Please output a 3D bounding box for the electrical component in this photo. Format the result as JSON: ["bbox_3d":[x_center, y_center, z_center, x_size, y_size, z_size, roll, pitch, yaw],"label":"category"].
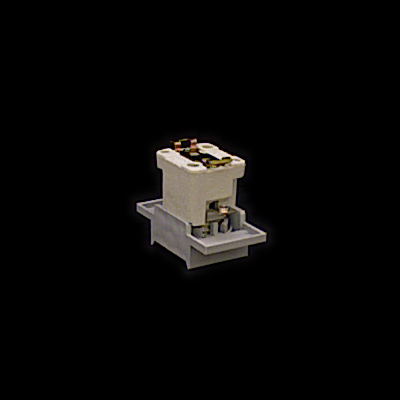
[{"bbox_3d":[0.000,0.000,0.638,0.042,0.064,0.080,-12,24,-31],"label":"electrical component"}]
